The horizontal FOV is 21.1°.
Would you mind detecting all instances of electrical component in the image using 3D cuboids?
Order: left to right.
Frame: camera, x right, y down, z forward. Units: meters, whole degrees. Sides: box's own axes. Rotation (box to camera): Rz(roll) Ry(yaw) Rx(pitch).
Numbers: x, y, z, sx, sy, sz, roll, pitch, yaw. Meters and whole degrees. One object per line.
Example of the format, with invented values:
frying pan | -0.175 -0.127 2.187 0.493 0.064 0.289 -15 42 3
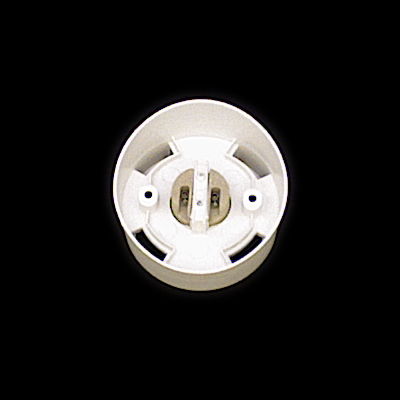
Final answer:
electrical component | 0.000 0.000 0.625 0.099 0.099 0.064 0 -28 0
